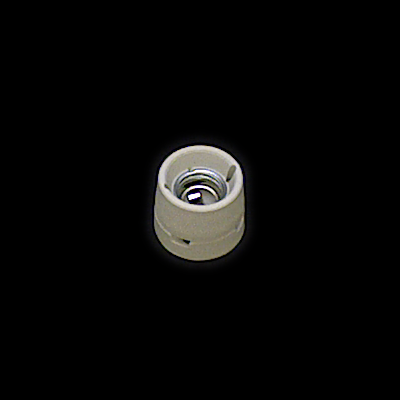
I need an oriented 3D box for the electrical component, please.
[{"bbox_3d":[0.000,0.000,0.634,0.055,0.055,0.047,0,-37,-2],"label":"electrical component"}]
